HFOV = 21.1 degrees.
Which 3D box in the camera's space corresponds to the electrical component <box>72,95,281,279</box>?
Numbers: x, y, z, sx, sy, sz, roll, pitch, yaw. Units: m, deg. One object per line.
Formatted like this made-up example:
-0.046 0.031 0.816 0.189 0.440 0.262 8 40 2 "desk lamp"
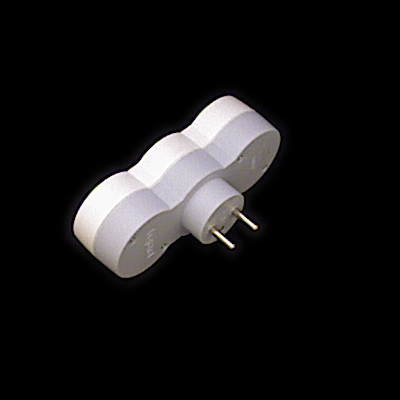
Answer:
0.000 0.000 0.633 0.138 0.052 0.073 -38 63 -26 "electrical component"
